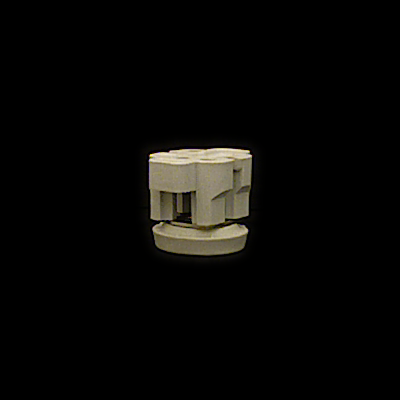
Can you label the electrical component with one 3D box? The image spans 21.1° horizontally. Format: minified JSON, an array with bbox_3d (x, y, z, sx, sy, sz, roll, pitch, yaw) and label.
[{"bbox_3d":[0.000,0.000,0.653,0.057,0.057,0.079,7,11,31],"label":"electrical component"}]
